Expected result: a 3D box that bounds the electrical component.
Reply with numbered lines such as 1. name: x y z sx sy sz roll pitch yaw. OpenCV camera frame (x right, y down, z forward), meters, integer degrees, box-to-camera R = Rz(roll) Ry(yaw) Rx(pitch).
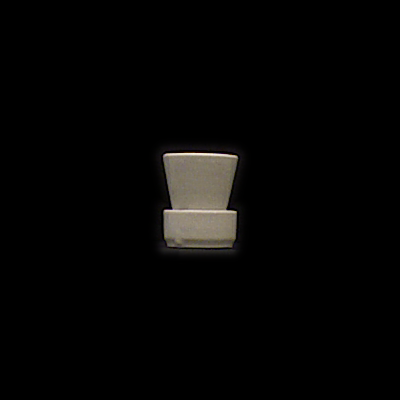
1. electrical component: 0.000 0.000 0.649 0.045 0.055 0.045 1 0 0
